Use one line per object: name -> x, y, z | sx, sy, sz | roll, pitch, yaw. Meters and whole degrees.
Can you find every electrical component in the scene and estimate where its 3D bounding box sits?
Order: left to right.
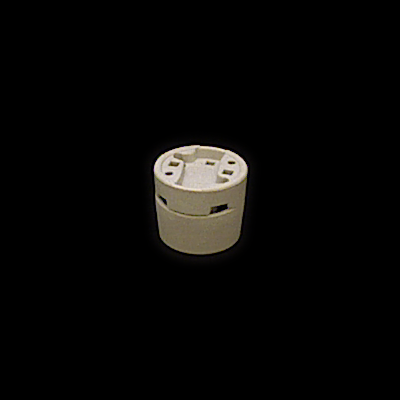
electrical component -> 0.000, 0.000, 0.640 | 0.055, 0.047, 0.055 | 1, 32, 0
